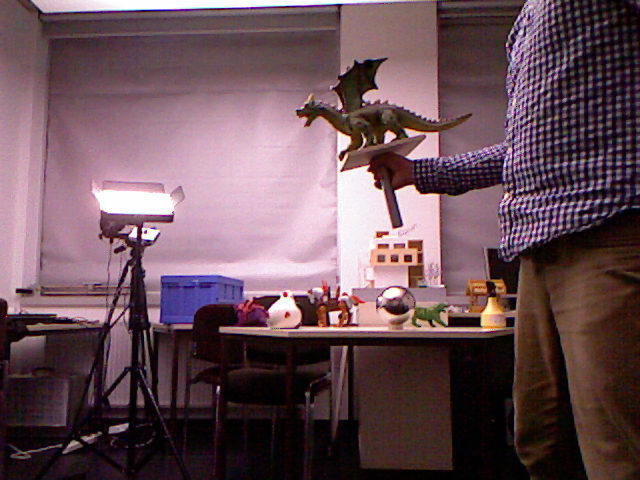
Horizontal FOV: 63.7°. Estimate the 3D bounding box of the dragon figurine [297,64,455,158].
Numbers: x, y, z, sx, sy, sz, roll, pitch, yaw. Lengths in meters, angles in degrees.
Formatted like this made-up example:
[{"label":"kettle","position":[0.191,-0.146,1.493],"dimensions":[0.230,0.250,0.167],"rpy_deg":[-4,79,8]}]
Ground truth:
[{"label":"dragon figurine","position":[0.140,-0.360,1.384],"dimensions":[0.412,0.243,0.122],"rpy_deg":[-18,2,-8]}]
